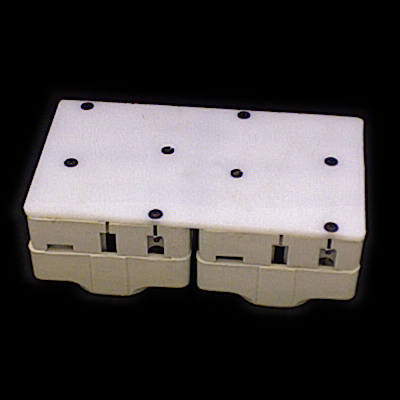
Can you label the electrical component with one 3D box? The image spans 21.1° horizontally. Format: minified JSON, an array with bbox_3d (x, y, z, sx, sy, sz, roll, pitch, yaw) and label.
[{"bbox_3d":[0.000,0.000,0.630,0.186,0.061,0.104,4,42,4],"label":"electrical component"}]
